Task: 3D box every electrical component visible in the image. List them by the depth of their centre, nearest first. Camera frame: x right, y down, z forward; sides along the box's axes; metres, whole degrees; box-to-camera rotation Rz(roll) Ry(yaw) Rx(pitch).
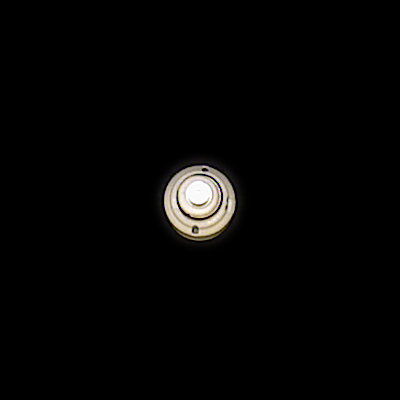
[{"bbox_3d":[0.000,0.000,0.618,0.040,0.040,0.078,0,-7,1],"label":"electrical component"}]
